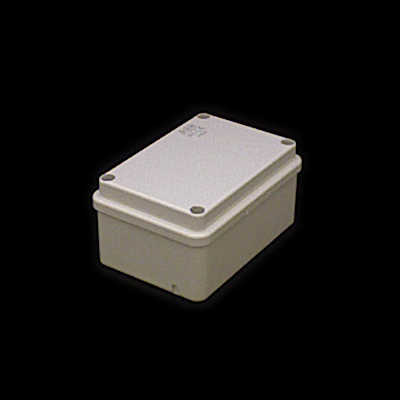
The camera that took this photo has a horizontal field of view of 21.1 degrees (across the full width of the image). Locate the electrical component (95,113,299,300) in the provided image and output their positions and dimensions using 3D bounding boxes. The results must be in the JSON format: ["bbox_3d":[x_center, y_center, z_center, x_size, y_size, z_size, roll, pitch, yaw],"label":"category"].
[{"bbox_3d":[0.000,0.000,0.635,0.077,0.058,0.112,20,36,28],"label":"electrical component"}]
